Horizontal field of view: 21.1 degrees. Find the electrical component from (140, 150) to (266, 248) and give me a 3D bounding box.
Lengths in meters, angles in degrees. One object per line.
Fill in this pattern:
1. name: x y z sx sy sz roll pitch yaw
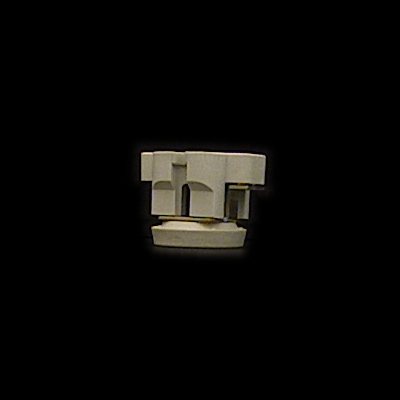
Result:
1. electrical component: 0.000 0.000 0.657 0.078 0.057 0.058 4 2 30
